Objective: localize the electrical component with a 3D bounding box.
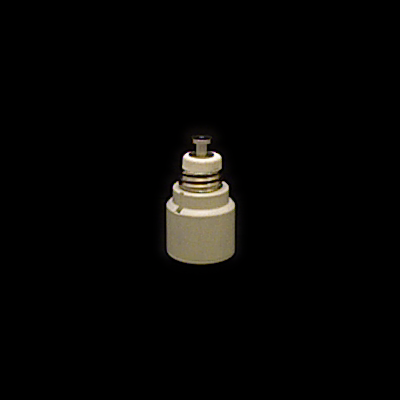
[{"bbox_3d":[0.000,0.000,0.637,0.040,0.079,0.039,1,22,0],"label":"electrical component"}]
